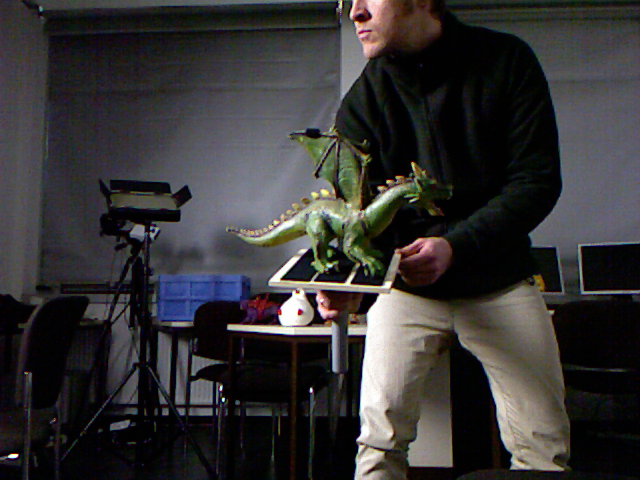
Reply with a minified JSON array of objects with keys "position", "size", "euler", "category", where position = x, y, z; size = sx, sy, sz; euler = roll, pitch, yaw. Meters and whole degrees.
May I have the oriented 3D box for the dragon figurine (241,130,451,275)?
[{"position":[0.017,-0.073,0.893],"size":[0.411,0.239,0.124],"euler":[7,22,25],"category":"dragon figurine"}]
